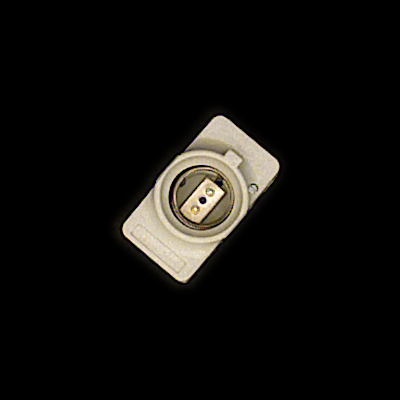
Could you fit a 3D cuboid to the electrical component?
[{"bbox_3d":[0.000,0.000,0.637,0.050,0.090,0.055,39,-4,4],"label":"electrical component"}]
